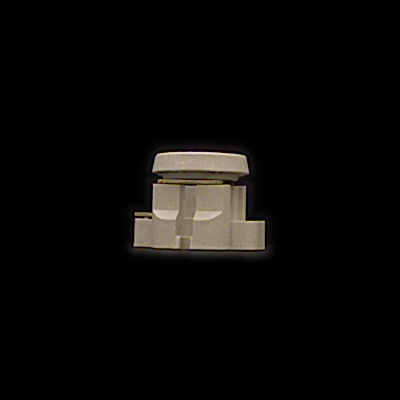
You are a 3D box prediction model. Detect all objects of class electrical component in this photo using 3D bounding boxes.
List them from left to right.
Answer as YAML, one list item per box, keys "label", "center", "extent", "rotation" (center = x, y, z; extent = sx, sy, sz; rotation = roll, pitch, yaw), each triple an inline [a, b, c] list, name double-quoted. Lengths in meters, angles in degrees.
- label: "electrical component"
  center: [0.000, 0.000, 0.649]
  extent: [0.078, 0.057, 0.058]
  rotation: [1, 1, 19]
